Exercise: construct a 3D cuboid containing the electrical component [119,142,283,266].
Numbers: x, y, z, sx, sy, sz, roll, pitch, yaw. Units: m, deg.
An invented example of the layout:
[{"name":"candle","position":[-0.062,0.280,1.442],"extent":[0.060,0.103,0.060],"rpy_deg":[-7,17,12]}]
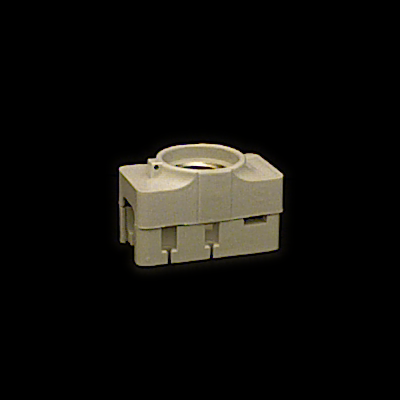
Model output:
[{"name":"electrical component","position":[0.000,0.000,0.647],"extent":[0.090,0.056,0.049],"rpy_deg":[-7,23,-19]}]
